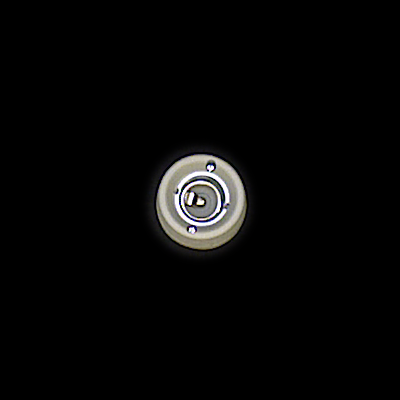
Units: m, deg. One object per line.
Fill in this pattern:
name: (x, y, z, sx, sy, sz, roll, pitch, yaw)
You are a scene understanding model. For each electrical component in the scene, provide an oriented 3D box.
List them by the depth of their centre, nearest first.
electrical component: (0.000, 0.000, 0.633, 0.055, 0.055, 0.047, 0, -7, 0)
